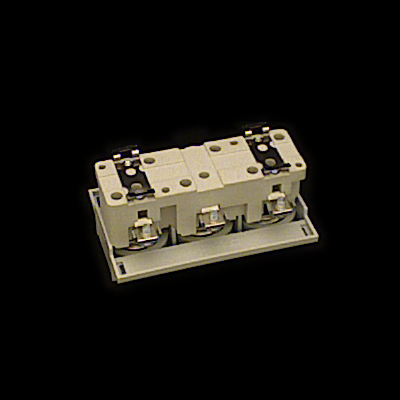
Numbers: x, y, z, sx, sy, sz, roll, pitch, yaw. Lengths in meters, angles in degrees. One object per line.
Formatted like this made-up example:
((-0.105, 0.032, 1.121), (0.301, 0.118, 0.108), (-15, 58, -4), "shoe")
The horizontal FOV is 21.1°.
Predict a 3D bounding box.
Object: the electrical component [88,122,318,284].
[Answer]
((0.000, 0.000, 0.640), (0.122, 0.063, 0.077), (-11, 43, -13), "electrical component")
